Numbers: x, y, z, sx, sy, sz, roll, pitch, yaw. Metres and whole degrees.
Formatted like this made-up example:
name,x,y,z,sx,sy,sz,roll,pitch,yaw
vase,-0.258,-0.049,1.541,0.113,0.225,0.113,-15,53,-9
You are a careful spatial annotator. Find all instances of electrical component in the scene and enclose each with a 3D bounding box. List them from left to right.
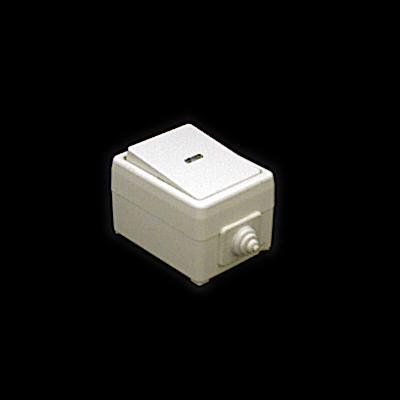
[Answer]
name,x,y,z,sx,sy,sz,roll,pitch,yaw
electrical component,0.000,0.000,0.632,0.061,0.061,0.095,-25,40,-36
